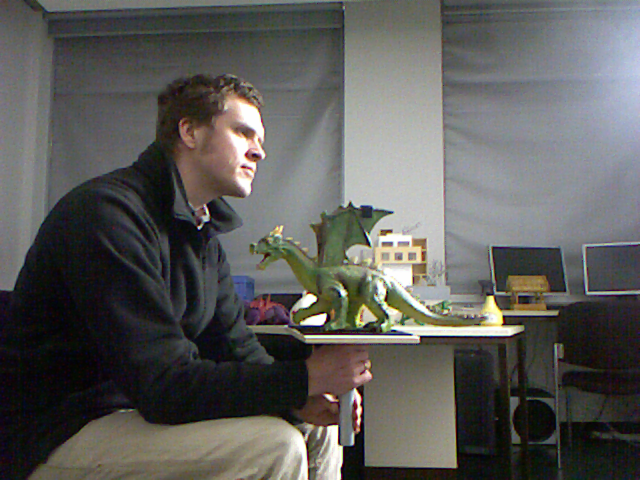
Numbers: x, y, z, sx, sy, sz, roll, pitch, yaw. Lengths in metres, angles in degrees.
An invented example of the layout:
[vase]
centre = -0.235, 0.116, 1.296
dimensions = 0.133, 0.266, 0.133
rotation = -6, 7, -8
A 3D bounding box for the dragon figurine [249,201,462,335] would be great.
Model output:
[dragon figurine]
centre = 0.071, 0.047, 0.969
dimensions = 0.411, 0.244, 0.122
rotation = 0, -3, -12
